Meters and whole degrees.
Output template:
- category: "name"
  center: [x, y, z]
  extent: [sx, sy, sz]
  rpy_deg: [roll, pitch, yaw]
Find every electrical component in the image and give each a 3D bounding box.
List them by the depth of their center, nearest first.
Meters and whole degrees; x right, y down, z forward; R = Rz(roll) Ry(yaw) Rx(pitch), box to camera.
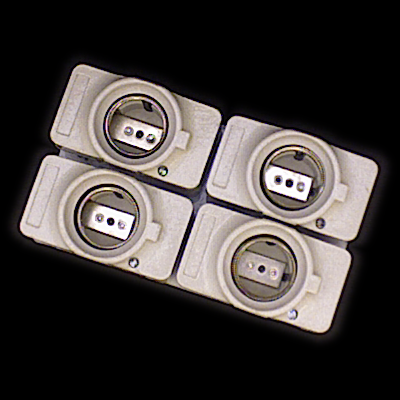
- category: "electrical component"
  center: [0.000, 0.000, 0.627]
  extent: [0.186, 0.106, 0.060]
  rpy_deg: [18, -7, 2]
